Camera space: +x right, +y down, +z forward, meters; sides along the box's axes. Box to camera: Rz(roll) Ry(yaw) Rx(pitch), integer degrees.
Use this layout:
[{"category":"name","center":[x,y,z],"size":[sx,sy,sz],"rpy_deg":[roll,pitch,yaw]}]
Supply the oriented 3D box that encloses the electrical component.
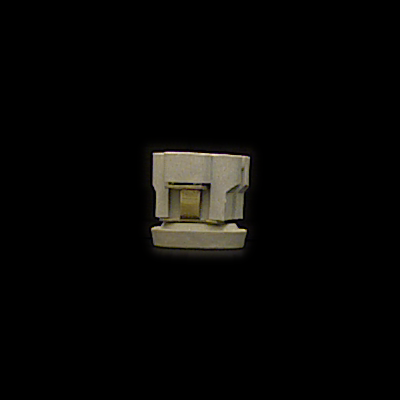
[{"category":"electrical component","center":[0.000,0.000,0.655],"size":[0.057,0.057,0.079],"rpy_deg":[2,3,15]}]
